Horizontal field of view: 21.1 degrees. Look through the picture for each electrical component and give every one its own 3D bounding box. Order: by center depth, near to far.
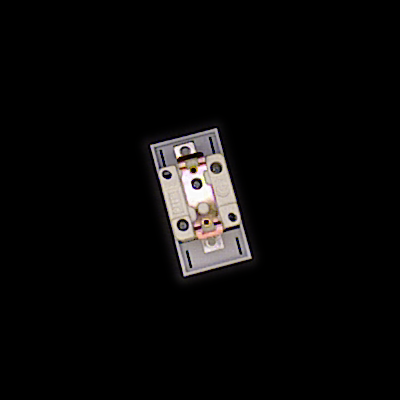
[{"bbox_3d":[0.000,0.000,0.626,0.042,0.081,0.063,-15,-7,-1],"label":"electrical component"}]
